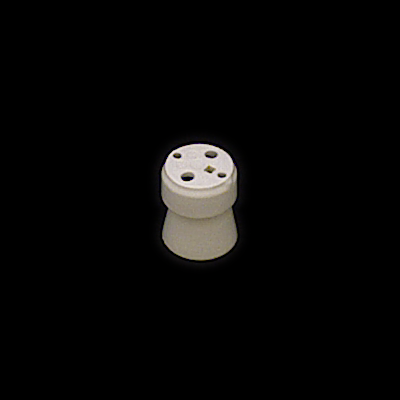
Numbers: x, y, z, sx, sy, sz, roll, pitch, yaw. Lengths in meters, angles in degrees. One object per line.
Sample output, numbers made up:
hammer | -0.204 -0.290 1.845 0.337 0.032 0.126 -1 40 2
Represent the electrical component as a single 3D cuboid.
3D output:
electrical component | 0.000 0.000 0.631 0.045 0.055 0.044 0 42 0
